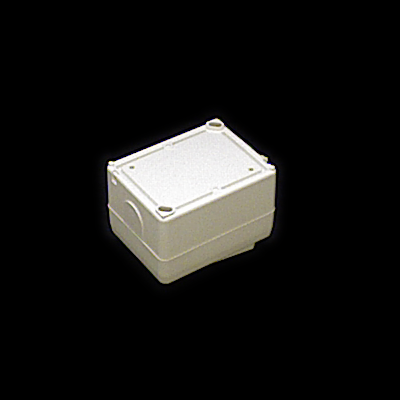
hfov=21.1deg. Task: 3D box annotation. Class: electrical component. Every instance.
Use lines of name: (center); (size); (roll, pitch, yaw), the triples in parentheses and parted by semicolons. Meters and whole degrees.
electrical component: (0.000, 0.000, 0.635); (0.096, 0.061, 0.061); (-24, 47, -25)
